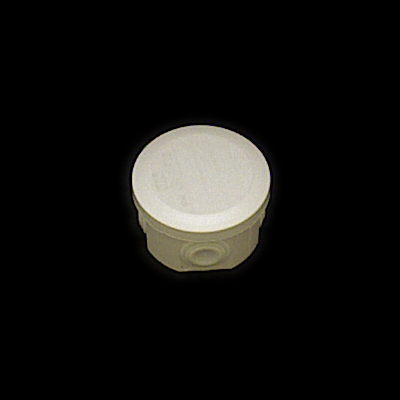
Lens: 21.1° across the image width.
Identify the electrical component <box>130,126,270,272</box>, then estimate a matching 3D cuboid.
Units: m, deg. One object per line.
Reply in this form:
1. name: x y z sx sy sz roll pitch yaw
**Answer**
1. electrical component: 0.000 0.000 0.633 0.080 0.080 0.051 0 -38 0
